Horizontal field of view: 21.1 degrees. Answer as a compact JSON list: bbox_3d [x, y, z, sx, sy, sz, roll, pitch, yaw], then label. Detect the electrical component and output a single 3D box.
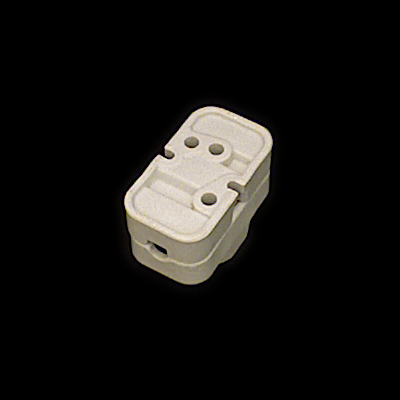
[{"bbox_3d":[0.000,0.000,0.635,0.053,0.095,0.059,26,-33,18],"label":"electrical component"}]
